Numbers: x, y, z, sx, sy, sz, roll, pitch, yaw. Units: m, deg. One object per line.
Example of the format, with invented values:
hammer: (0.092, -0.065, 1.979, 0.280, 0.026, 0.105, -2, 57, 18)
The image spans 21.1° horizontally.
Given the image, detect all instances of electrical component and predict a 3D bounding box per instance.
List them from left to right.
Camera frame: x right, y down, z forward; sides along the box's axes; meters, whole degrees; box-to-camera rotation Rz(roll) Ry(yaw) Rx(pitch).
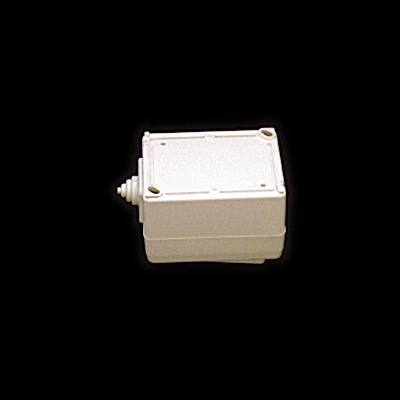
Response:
electrical component: (0.000, 0.000, 0.633, 0.096, 0.061, 0.061, -2, 42, -2)
